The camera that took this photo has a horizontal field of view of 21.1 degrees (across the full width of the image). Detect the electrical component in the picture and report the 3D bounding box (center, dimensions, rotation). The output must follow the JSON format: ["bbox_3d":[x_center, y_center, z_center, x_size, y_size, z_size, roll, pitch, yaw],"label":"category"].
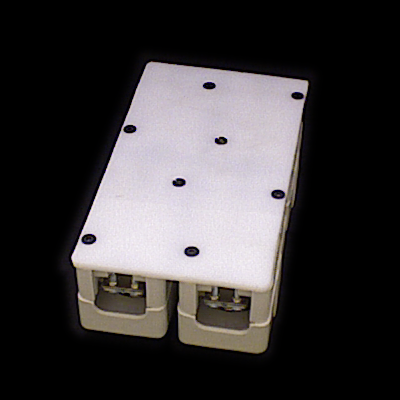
[{"bbox_3d":[0.000,0.000,0.630,0.105,0.061,0.184,7,43,7],"label":"electrical component"}]
